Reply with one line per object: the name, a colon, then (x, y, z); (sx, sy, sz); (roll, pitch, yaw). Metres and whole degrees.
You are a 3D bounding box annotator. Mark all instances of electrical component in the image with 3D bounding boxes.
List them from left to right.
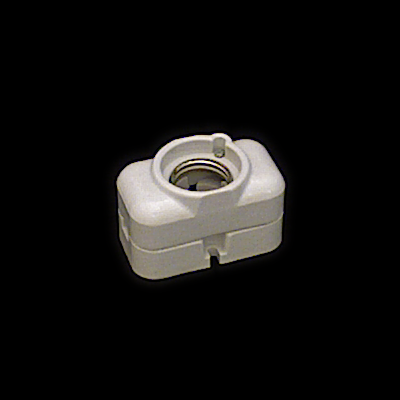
electrical component: (0.000, 0.000, 0.639); (0.095, 0.060, 0.053); (-13, 45, -15)
